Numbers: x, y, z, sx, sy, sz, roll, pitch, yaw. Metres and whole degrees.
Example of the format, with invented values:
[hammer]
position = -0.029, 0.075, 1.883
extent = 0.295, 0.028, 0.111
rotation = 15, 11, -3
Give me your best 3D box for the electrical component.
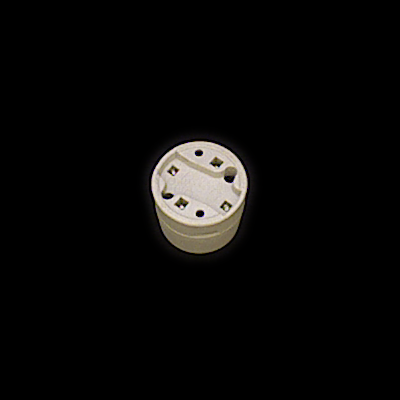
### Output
[electrical component]
position = 0.000, 0.000, 0.634
extent = 0.055, 0.056, 0.047
rotation = 0, -27, -1
